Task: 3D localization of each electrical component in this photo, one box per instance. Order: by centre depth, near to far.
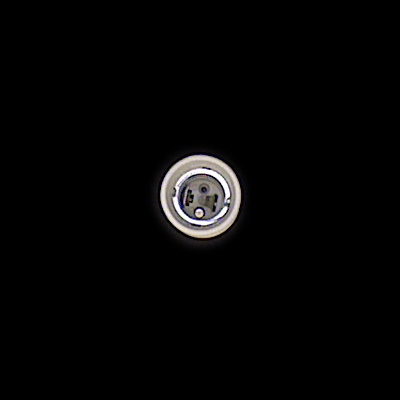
[{"bbox_3d":[0.000,0.000,0.629,0.045,0.045,0.055,0,-7,1],"label":"electrical component"}]
